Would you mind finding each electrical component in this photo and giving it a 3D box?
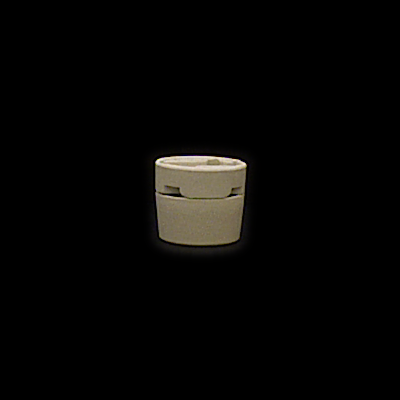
[{"bbox_3d":[0.000,0.000,0.647,0.055,0.047,0.055,1,11,0],"label":"electrical component"}]
